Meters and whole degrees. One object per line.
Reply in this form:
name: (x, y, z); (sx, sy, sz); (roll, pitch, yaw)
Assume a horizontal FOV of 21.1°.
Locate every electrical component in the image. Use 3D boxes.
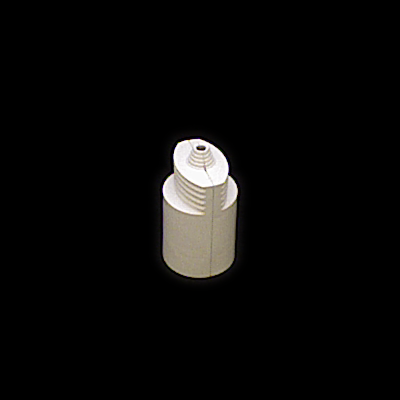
electrical component: (0.000, 0.000, 0.623); (0.043, 0.082, 0.042); (1, 42, 0)
